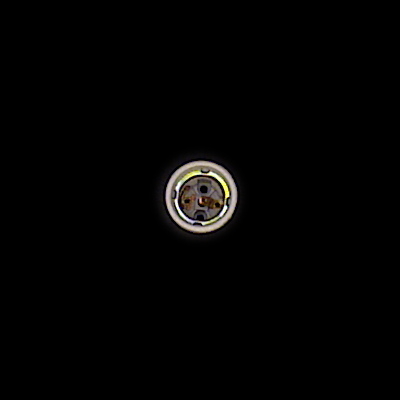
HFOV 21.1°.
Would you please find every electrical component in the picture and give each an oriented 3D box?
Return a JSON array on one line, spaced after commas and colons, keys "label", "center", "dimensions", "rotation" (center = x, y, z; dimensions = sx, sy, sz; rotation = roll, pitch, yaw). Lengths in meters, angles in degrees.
[{"label": "electrical component", "center": [0.000, 0.000, 0.628], "dimensions": [0.040, 0.040, 0.046], "rotation": [0, -7, 0]}]
